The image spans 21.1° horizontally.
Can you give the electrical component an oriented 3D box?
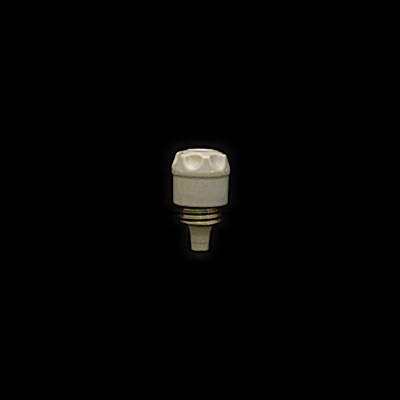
[{"bbox_3d":[0.000,0.000,0.653,0.035,0.062,0.035,1,12,0],"label":"electrical component"}]
